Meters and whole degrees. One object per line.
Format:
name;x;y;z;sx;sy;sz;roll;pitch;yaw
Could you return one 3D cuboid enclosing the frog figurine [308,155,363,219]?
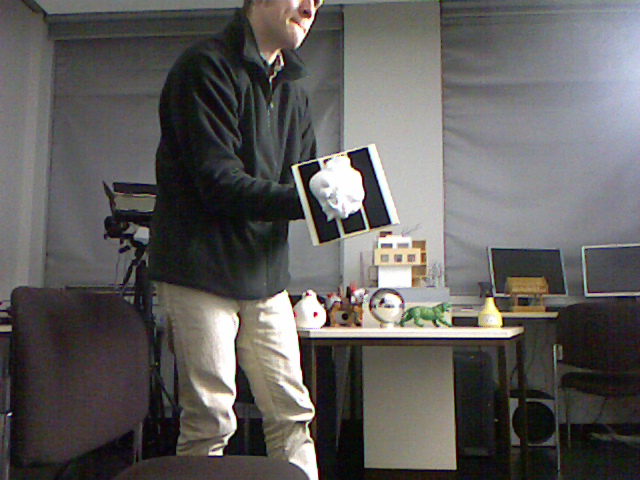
frog figurine;0.038;-0.121;1.113;0.123;0.139;0.158;6;-12;2
